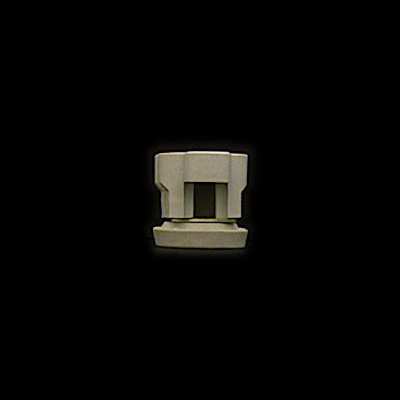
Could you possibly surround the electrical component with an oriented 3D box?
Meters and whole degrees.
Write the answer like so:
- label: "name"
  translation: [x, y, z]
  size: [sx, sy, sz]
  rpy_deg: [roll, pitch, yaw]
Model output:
- label: "electrical component"
  translation: [0.000, 0.000, 0.657]
  size: [0.058, 0.057, 0.078]
  rpy_deg: [0, 0, -10]
